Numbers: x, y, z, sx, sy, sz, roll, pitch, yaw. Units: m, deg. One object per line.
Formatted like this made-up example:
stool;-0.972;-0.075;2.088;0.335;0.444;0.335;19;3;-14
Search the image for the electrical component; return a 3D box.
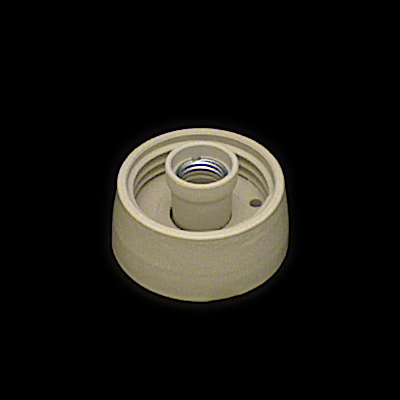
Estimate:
electrical component;0.000;0.000;0.637;0.108;0.061;0.107;1;42;0
